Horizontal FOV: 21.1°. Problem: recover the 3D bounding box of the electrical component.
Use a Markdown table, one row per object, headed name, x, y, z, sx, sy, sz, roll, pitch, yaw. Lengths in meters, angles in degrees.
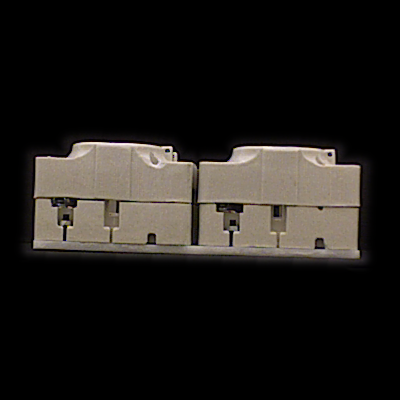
| name | x | y | z | sx | sy | sz | roll | pitch | yaw |
| --- | --- | --- | --- | --- | --- | --- | --- | --- | --- |
| electrical component | 0.000 | 0.000 | 0.651 | 0.186 | 0.060 | 0.105 | 2 | 0 | 2 |
